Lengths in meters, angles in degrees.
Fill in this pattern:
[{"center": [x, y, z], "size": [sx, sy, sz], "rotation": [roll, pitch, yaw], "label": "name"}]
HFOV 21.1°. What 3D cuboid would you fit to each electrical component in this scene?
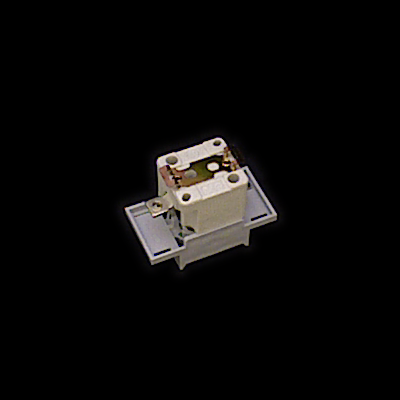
[{"center": [0.000, 0.000, 0.628], "size": [0.081, 0.042, 0.064], "rotation": [-20, -35, -15], "label": "electrical component"}]
